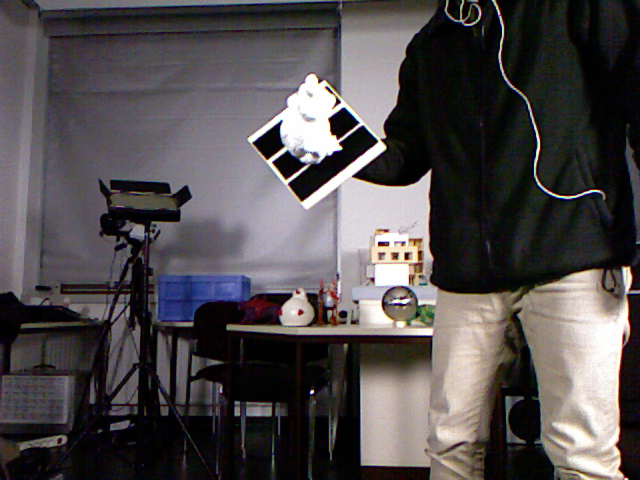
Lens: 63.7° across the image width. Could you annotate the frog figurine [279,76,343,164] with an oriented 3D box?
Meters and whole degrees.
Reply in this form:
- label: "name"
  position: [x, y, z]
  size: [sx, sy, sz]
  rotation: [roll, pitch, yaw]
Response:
- label: "frog figurine"
  position: [-0.024, -0.224, 0.977]
  size: [0.123, 0.140, 0.157]
  rotation: [-18, -19, 2]
